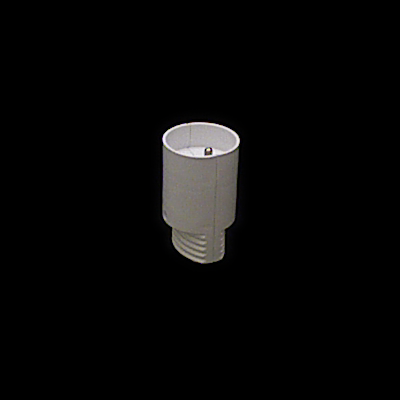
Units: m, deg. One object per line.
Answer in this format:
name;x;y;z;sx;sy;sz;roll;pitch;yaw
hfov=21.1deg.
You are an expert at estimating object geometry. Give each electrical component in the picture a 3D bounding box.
electrical component;0.000;0.000;0.628;0.043;0.082;0.042;1;32;0
